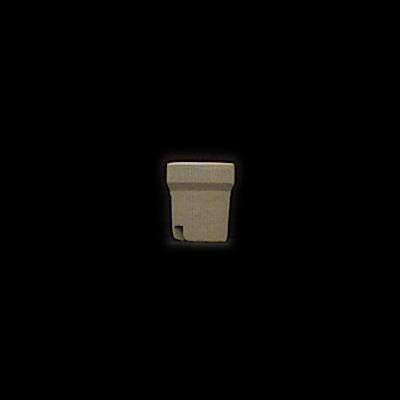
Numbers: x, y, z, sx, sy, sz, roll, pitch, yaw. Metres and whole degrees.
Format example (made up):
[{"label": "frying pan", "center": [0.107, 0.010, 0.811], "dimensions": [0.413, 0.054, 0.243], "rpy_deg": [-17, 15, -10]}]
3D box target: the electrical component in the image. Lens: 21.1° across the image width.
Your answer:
[{"label": "electrical component", "center": [0.000, 0.000, 0.649], "dimensions": [0.040, 0.046, 0.040], "rpy_deg": [1, 1, 1]}]
